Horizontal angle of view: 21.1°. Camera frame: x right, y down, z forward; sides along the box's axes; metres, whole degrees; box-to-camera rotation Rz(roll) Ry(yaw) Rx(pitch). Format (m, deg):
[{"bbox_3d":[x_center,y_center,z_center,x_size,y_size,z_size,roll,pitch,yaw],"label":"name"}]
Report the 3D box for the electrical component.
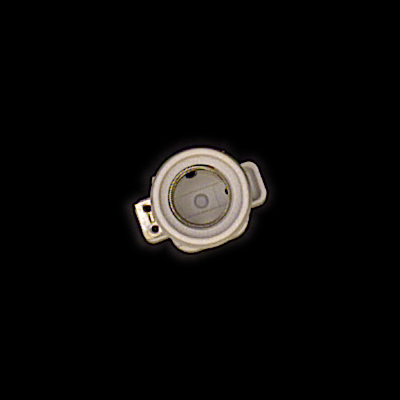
[{"bbox_3d":[0.000,0.000,0.629,0.078,0.058,0.056,-20,-6,-2],"label":"electrical component"}]
